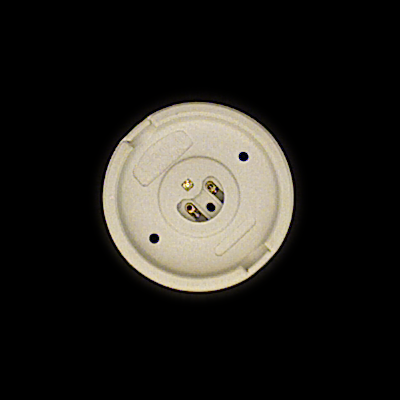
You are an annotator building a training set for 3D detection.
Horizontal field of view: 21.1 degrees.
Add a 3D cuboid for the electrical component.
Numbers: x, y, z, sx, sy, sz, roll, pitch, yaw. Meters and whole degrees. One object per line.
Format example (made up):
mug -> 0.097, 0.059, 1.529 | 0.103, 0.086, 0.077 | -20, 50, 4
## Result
electrical component -> 0.000, 0.000, 0.635 | 0.108, 0.108, 0.060 | 0, -5, 0
